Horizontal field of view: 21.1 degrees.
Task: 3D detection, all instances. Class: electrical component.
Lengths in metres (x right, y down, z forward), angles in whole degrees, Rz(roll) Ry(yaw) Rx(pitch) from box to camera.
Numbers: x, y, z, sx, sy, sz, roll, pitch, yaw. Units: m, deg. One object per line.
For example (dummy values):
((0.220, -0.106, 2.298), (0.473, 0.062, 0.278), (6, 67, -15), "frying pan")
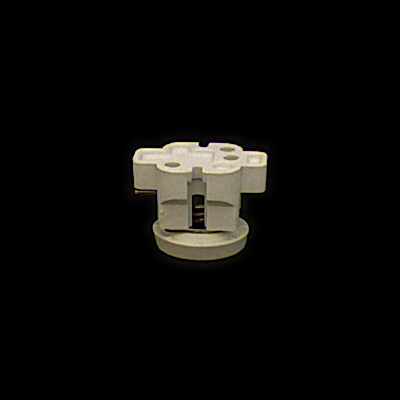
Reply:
((0.000, 0.000, 0.645), (0.078, 0.057, 0.057), (1, 23, 2), "electrical component")
